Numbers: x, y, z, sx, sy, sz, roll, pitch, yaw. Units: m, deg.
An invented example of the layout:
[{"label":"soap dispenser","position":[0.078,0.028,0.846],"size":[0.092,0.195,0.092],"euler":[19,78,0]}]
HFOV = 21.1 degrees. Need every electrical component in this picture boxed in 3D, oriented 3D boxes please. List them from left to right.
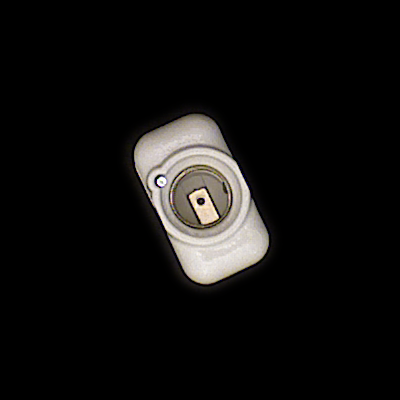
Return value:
[{"label":"electrical component","position":[0.000,0.000,0.635],"size":[0.054,0.095,0.059],"euler":[-25,-6,-2]}]
